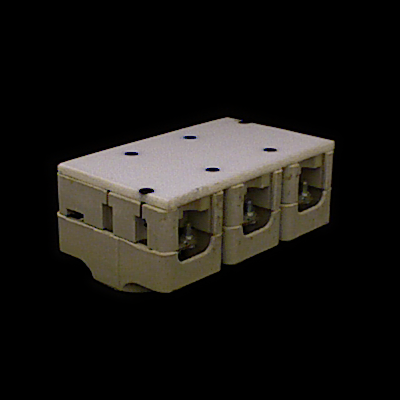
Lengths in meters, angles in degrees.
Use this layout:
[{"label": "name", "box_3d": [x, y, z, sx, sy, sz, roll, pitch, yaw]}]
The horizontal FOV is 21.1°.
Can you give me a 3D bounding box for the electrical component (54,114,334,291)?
[{"label": "electrical component", "box_3d": [0.000, 0.000, 0.642, 0.088, 0.063, 0.149, 18, 26, 39]}]
